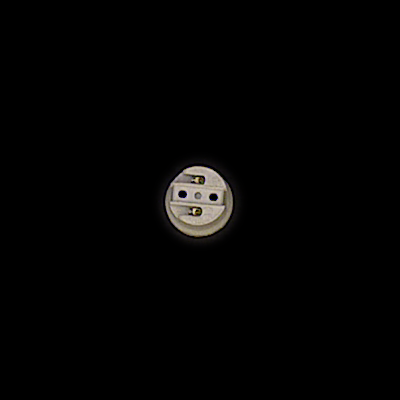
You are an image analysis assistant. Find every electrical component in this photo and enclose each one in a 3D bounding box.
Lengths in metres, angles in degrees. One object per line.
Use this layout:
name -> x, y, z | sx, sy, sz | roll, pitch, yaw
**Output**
electrical component -> 0.000, 0.000, 0.634 | 0.040, 0.040, 0.046 | 0, -7, 0
